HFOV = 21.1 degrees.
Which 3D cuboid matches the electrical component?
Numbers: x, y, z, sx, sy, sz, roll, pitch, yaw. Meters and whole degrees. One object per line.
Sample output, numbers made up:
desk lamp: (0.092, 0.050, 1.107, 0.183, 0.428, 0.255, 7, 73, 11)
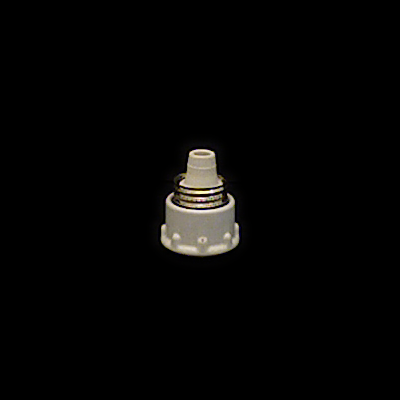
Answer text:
electrical component: (0.000, 0.000, 0.647, 0.048, 0.063, 0.047, 2, 21, 0)
